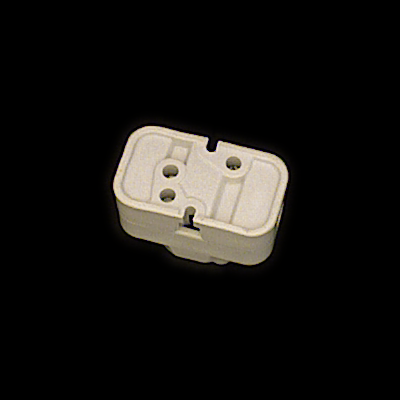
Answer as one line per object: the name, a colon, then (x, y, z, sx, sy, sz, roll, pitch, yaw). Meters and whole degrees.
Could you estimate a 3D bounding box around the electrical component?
electrical component: (0.000, 0.000, 0.634, 0.095, 0.054, 0.059, 14, -26, 6)
